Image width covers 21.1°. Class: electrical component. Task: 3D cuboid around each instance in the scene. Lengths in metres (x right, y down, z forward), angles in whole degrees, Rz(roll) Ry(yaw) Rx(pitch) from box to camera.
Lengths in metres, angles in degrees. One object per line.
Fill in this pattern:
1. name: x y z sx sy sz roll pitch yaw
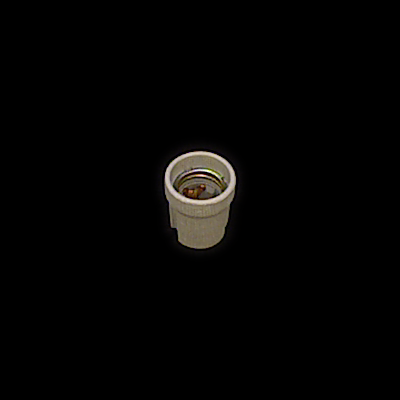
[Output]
1. electrical component: 0.000 0.000 0.631 0.040 0.039 0.047 0 -38 -1
